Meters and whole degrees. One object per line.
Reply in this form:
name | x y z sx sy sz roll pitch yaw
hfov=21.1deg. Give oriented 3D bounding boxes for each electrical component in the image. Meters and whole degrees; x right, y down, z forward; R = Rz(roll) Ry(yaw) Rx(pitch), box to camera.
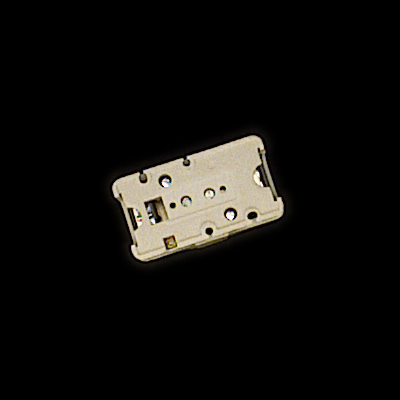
electrical component | 0.000 0.000 0.637 0.090 0.050 0.055 -18 -5 -1
